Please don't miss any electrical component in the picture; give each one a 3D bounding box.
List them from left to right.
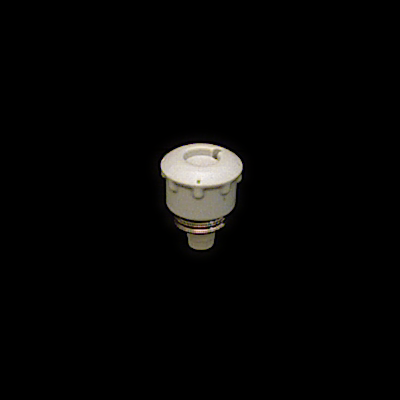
[{"bbox_3d":[0.000,0.000,0.643,0.048,0.063,0.047,1,32,0],"label":"electrical component"}]
